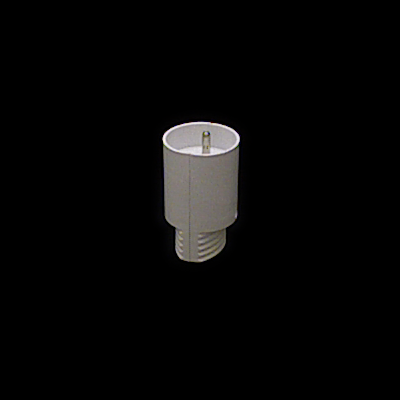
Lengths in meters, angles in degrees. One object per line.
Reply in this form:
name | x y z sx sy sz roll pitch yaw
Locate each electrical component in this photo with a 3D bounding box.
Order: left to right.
electrical component | 0.000 0.000 0.630 0.043 0.082 0.042 1 31 -1
